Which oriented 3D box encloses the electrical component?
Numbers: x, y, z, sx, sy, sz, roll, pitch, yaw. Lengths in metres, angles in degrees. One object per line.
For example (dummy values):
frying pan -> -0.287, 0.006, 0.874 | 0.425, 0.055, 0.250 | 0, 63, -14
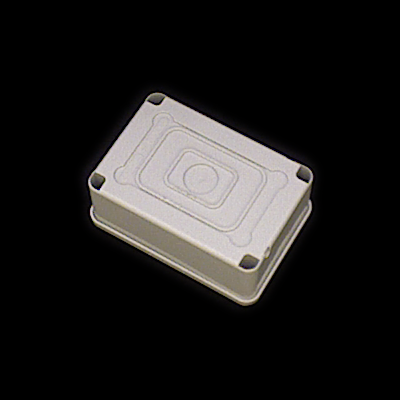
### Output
electrical component -> 0.000, 0.000, 0.628 | 0.113, 0.078, 0.057 | 28, -24, 14
